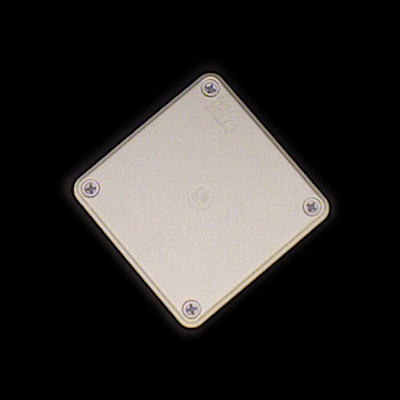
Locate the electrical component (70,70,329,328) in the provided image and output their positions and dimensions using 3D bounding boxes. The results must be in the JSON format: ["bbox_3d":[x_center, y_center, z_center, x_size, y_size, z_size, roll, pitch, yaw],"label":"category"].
[{"bbox_3d":[0.000,0.000,0.630,0.109,0.109,0.056,-40,-5,-3],"label":"electrical component"}]
